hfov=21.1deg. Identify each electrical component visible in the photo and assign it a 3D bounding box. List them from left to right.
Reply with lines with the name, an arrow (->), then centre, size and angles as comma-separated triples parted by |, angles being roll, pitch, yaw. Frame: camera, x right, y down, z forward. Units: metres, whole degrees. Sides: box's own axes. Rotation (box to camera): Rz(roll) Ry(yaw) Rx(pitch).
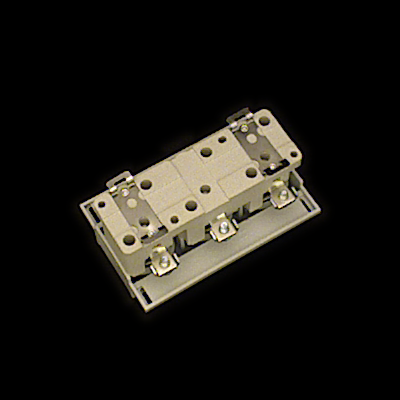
electrical component -> 0.000, 0.000, 0.634 | 0.122, 0.078, 0.063 | -29, -24, -14
